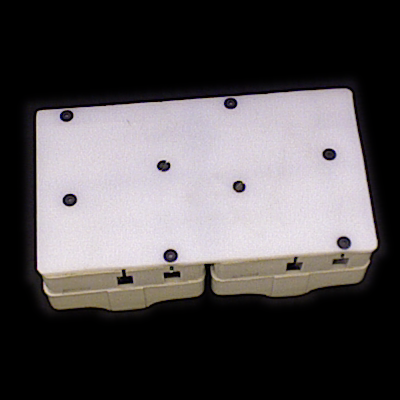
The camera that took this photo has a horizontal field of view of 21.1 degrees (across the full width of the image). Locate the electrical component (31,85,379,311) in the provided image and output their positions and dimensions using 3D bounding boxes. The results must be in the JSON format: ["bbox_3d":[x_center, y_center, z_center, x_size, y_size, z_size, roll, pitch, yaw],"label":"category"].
[{"bbox_3d":[0.000,0.000,0.625,0.186,0.105,0.060,-4,-27,-2],"label":"electrical component"}]
